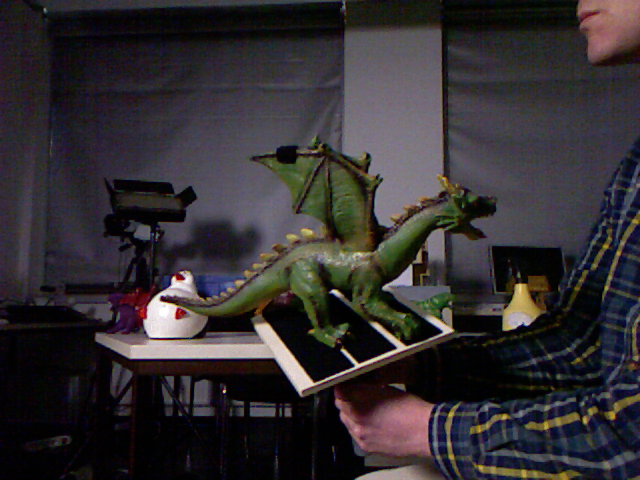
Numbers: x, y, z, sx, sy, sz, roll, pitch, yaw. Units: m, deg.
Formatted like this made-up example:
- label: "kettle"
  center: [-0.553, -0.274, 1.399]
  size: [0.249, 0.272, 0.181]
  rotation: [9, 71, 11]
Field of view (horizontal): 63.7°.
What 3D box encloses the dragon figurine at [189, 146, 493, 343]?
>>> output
- label: "dragon figurine"
  center: [-0.002, -0.001, 0.629]
  size: [0.410, 0.239, 0.125]
  rotation: [-3, 23, 13]
